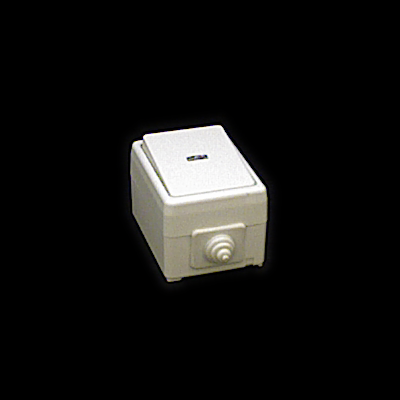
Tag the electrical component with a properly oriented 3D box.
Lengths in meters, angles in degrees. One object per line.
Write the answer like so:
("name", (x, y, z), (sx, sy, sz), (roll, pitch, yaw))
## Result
("electrical component", (0.000, 0.000, 0.632), (0.062, 0.061, 0.095), (-9, 32, -16))
